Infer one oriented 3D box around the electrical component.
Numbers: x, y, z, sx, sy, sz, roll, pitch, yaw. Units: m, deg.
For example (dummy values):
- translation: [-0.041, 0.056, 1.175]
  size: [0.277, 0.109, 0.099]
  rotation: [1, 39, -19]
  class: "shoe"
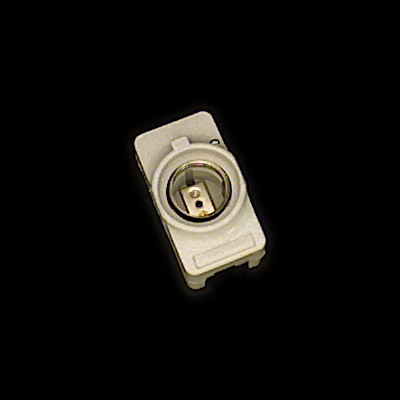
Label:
- translation: [0.000, 0.000, 0.636]
  size: [0.050, 0.089, 0.055]
  rotation: [-22, -15, -6]
  class: "electrical component"
